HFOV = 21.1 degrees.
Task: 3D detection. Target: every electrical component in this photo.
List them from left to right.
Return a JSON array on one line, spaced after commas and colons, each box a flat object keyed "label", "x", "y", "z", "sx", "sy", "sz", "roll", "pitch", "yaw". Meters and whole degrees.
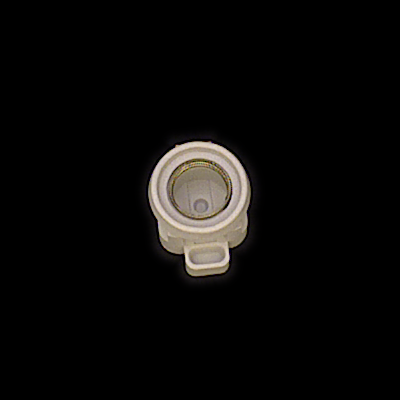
[{"label": "electrical component", "x": 0.000, "y": 0.000, "z": 0.629, "sx": 0.058, "sy": 0.079, "sz": 0.056, "roll": -7, "pitch": -17, "yaw": -2}]
